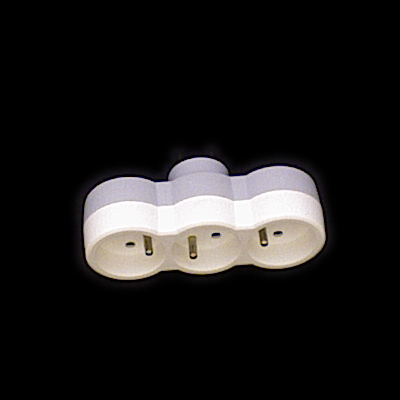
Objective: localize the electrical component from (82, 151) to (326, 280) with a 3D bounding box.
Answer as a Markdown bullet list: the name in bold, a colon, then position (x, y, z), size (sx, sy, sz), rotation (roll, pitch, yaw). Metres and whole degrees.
- **electrical component**: position (0.000, 0.000, 0.631), size (0.138, 0.073, 0.052), rotation (-4, -39, -3)
